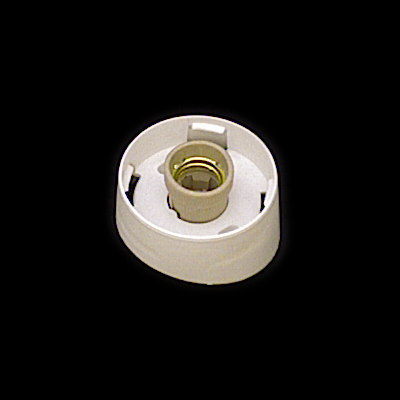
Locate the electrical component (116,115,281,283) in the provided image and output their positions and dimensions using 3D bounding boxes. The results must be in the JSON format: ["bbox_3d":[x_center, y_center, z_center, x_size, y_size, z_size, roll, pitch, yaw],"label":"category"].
[{"bbox_3d":[0.000,0.000,0.626,0.099,0.098,0.064,0,-38,-1],"label":"electrical component"}]
